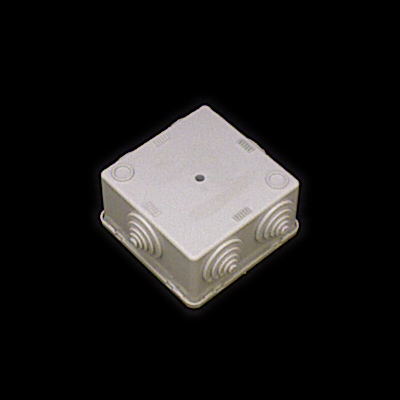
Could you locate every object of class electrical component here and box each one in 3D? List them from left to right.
[{"bbox_3d":[0.000,0.000,0.633,0.100,0.049,0.099,-35,61,-24],"label":"electrical component"}]
